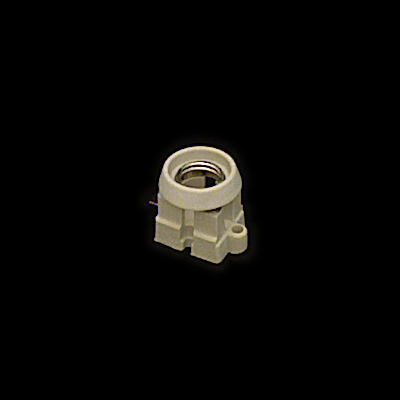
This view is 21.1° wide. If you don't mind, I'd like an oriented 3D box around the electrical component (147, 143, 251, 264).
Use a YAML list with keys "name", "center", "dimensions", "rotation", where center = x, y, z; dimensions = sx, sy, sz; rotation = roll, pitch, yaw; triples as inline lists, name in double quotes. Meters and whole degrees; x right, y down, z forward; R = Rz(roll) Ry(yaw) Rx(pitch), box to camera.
- name: "electrical component"
  center: [0.000, 0.000, 0.639]
  dimensions: [0.066, 0.056, 0.048]
  rotation: [19, 44, 18]
